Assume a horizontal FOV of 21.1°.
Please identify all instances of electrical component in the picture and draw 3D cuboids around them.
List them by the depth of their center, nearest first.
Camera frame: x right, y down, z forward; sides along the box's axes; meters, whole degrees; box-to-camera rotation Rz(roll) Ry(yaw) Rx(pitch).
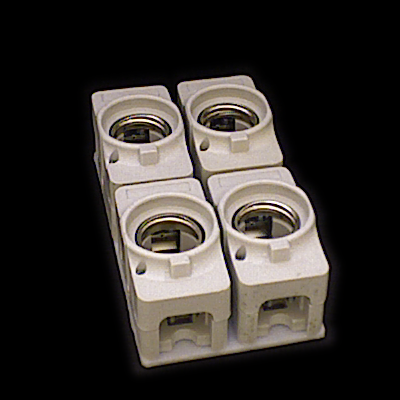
[{"bbox_3d":[0.000,0.000,0.630,0.105,0.061,0.184,-8,43,-10],"label":"electrical component"}]
